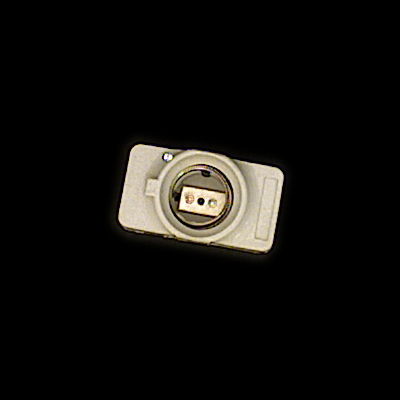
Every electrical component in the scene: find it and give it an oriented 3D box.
[{"bbox_3d":[0.000,0.000,0.637,0.089,0.050,0.055,10,-5,1],"label":"electrical component"}]
